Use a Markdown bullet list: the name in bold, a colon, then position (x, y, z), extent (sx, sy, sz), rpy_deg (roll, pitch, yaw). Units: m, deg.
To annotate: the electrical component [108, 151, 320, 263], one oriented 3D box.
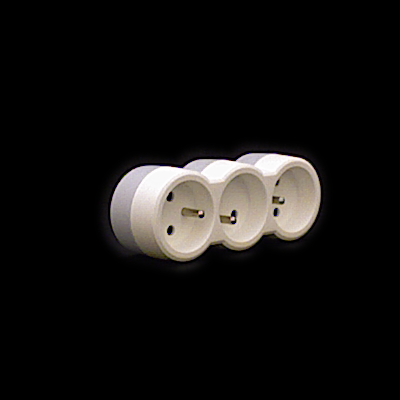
- **electrical component**: position (0.000, 0.000, 0.643), extent (0.138, 0.052, 0.073), rpy_deg (-9, 13, -43)
